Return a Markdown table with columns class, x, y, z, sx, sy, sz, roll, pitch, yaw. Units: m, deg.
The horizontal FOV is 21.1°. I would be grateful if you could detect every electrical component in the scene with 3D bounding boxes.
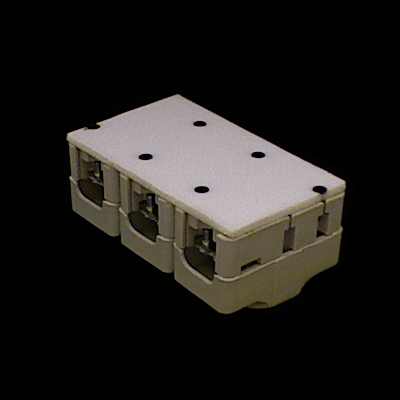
| class | x | y | z | sx | sy | sz | roll | pitch | yaw |
| --- | --- | --- | --- | --- | --- | --- | --- | --- | --- |
| electrical component | 0.000 | 0.000 | 0.640 | 0.089 | 0.063 | 0.148 | -24 | 39 | -34 |
